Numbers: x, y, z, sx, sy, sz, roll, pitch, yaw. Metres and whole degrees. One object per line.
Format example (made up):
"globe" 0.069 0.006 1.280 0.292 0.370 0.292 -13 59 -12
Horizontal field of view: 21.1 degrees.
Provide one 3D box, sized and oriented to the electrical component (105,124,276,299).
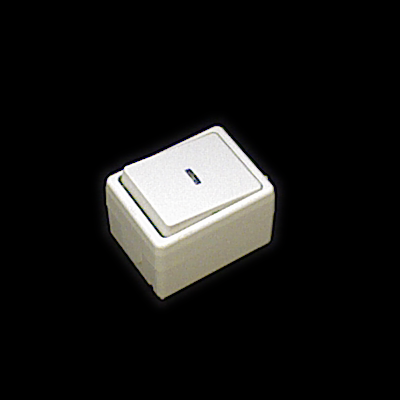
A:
"electrical component" 0.000 0.000 0.628 0.096 0.061 0.061 -27 -33 -20
